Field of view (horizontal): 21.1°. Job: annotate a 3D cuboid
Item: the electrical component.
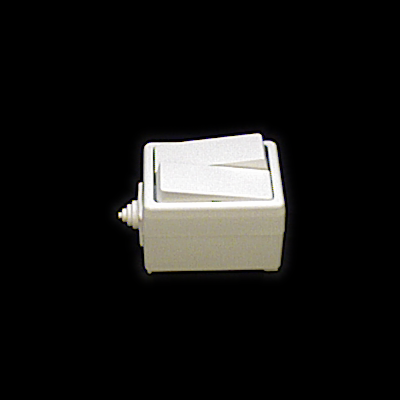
[{"bbox_3d":[0.000,0.000,0.631,0.096,0.061,0.061,-1,42,-2],"label":"electrical component"}]
